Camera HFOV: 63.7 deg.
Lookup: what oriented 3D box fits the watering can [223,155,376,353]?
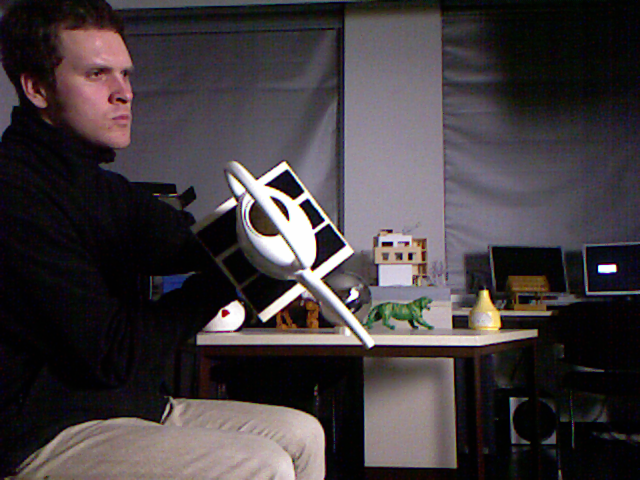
[{"bbox_3d":[-0.038,0.018,0.804,0.105,0.350,0.225,-36,-1,-2],"label":"watering can"}]
